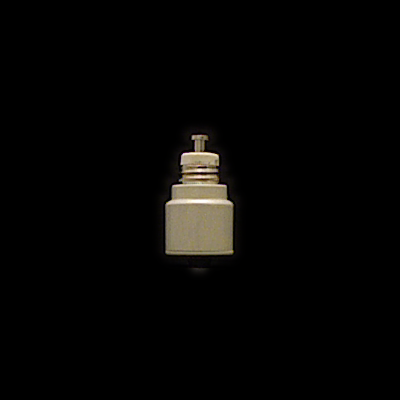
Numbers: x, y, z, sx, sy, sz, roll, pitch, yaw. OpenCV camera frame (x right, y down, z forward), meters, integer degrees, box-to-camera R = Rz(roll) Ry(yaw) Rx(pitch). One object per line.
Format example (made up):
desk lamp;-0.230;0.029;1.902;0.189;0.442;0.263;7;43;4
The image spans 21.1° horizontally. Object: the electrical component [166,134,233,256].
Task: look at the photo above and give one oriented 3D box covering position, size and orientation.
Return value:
electrical component;0.000;0.000;0.649;0.040;0.078;0.040;0;2;0
